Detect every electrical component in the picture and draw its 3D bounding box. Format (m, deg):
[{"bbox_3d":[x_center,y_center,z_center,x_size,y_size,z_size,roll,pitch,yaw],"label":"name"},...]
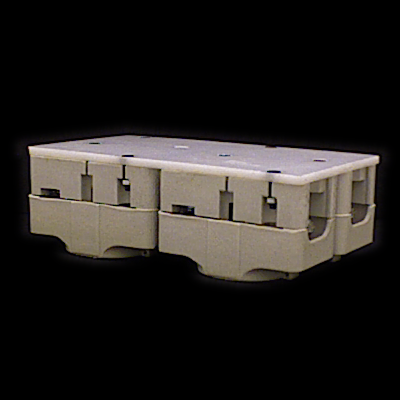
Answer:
[{"bbox_3d":[0.000,0.000,0.644,0.185,0.060,0.105,7,11,31],"label":"electrical component"}]
